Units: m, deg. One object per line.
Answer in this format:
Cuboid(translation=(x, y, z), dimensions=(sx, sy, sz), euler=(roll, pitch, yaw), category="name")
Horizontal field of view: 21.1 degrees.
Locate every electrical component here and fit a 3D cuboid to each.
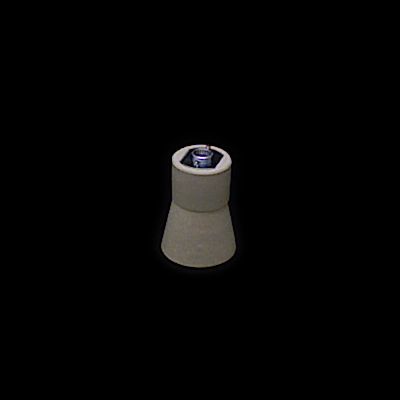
Cuboid(translation=(0.000, 0.000, 0.632), dimensions=(0.044, 0.066, 0.044), euler=(2, 32, -1), category="electrical component")
